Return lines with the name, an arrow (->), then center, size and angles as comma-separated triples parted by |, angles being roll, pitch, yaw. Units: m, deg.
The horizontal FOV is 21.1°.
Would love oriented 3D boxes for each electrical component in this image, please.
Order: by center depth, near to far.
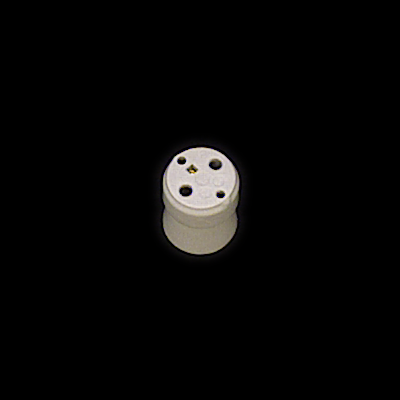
electrical component -> 0.000, 0.000, 0.629 | 0.045, 0.045, 0.055 | 0, -27, -1
